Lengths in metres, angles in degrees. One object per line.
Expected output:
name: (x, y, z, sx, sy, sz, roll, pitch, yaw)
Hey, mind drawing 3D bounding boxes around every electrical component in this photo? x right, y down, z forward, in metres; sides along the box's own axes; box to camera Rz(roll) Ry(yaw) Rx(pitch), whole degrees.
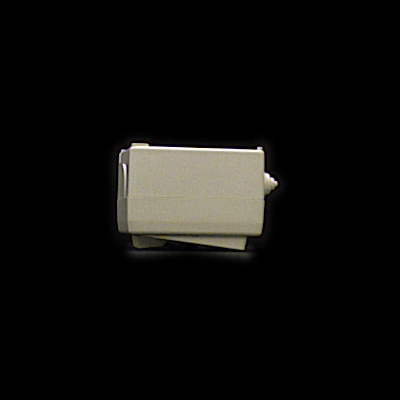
electrical component: (0.000, 0.000, 0.653, 0.096, 0.061, 0.062, 1, 0, -11)
